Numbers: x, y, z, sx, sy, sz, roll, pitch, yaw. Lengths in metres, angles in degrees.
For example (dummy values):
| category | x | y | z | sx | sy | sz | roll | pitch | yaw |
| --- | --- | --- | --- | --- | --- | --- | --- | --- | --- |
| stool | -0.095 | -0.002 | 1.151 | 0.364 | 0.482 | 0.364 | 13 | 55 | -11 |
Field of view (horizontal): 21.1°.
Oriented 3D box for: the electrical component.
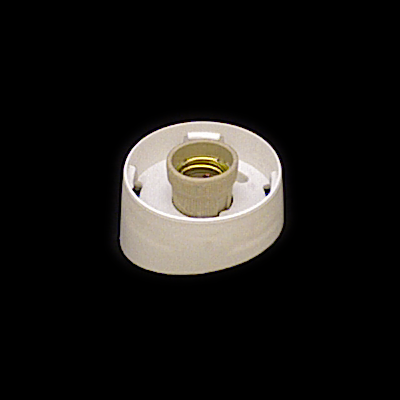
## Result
| category | x | y | z | sx | sy | sz | roll | pitch | yaw |
| --- | --- | --- | --- | --- | --- | --- | --- | --- | --- |
| electrical component | 0.000 | 0.000 | 0.629 | 0.099 | 0.065 | 0.098 | 0 | 42 | 0 |
